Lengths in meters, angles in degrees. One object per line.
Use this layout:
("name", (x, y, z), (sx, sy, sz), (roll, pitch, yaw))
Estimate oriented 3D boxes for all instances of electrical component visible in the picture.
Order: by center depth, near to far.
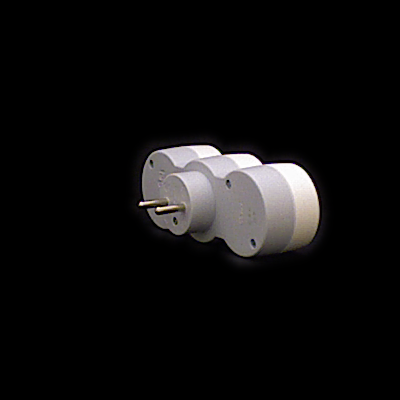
("electrical component", (0.000, 0.000, 0.643), (0.073, 0.052, 0.137), (-8, 15, -33))
